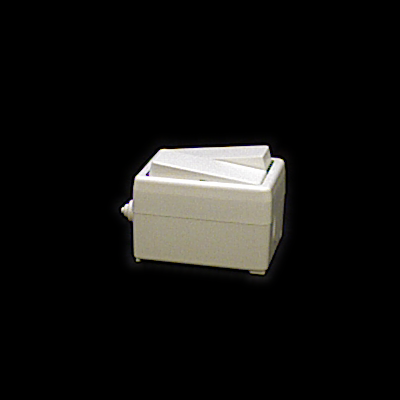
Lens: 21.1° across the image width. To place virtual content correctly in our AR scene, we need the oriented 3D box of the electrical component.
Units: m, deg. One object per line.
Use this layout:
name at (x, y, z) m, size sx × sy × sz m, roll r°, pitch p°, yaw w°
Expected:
electrical component at (0.000, 0.000, 0.639) m, size 0.096 × 0.061 × 0.061 m, roll 6°, pitch 21°, yaw 11°
